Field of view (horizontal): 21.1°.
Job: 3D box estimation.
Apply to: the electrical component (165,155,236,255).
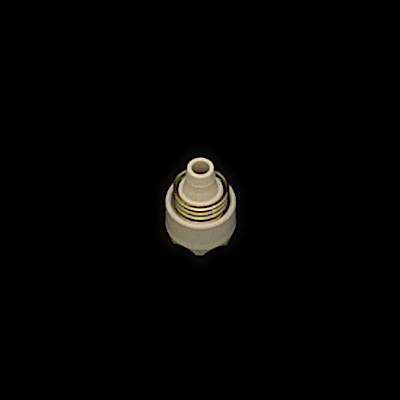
[{"bbox_3d":[0.000,0.000,0.636,0.043,0.043,0.062,0,-38,-1],"label":"electrical component"}]
